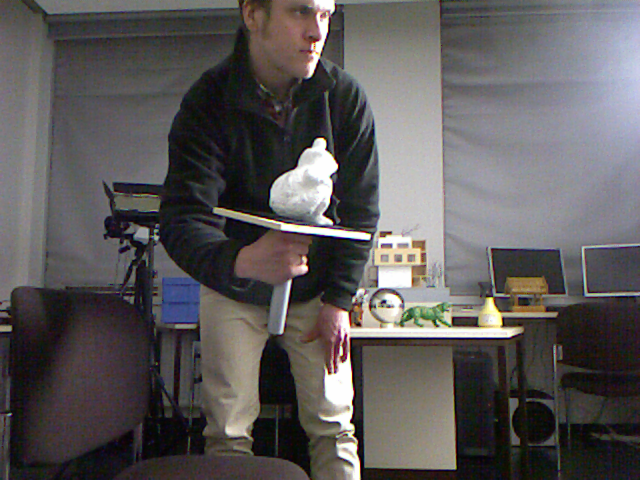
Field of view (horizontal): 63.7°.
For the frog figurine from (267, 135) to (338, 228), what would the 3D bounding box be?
[{"bbox_3d":[-0.027,-0.111,0.925,0.123,0.159,0.138,8,7,-23],"label":"frog figurine"}]
